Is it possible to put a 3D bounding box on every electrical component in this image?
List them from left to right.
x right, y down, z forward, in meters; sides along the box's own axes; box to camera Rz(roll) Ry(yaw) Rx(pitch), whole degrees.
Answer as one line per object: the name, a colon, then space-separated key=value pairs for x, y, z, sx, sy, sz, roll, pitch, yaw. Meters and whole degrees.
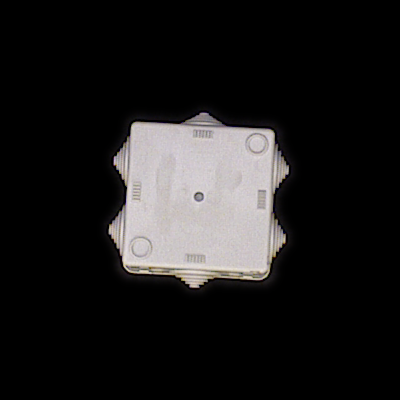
electrical component: x=0.000 y=0.000 z=0.632 sx=0.100 sy=0.100 sz=0.048 roll=3 pitch=-7 yaw=0
